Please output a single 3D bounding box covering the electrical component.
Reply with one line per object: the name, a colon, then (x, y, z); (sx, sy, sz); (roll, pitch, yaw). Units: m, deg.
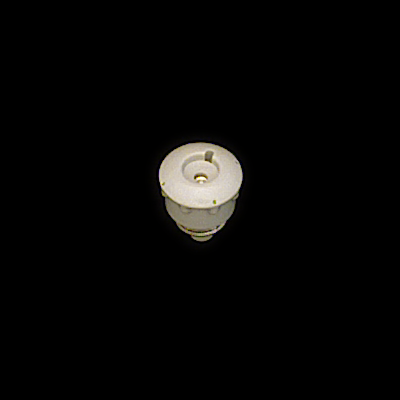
electrical component: (0.000, 0.000, 0.635); (0.048, 0.048, 0.062); (0, -37, 0)
